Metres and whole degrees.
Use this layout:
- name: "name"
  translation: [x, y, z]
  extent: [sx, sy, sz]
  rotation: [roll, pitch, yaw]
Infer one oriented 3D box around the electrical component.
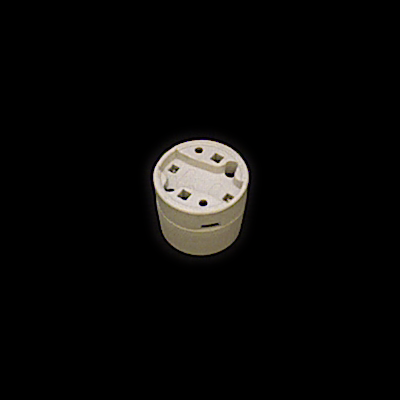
- name: "electrical component"
  translation: [0.000, 0.000, 0.634]
  extent: [0.055, 0.055, 0.047]
  rotation: [0, -38, -1]
